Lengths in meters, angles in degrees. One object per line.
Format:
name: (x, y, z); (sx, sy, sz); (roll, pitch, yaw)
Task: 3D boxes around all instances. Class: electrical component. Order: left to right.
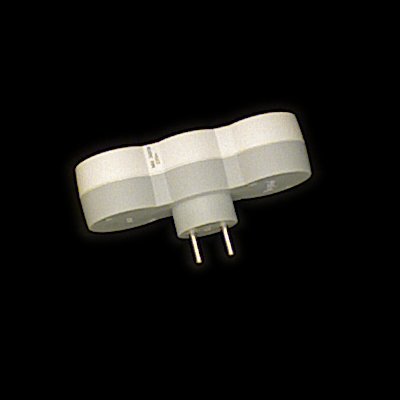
electrical component: (0.000, 0.000, 0.637); (0.138, 0.074, 0.052); (-14, -14, -4)
